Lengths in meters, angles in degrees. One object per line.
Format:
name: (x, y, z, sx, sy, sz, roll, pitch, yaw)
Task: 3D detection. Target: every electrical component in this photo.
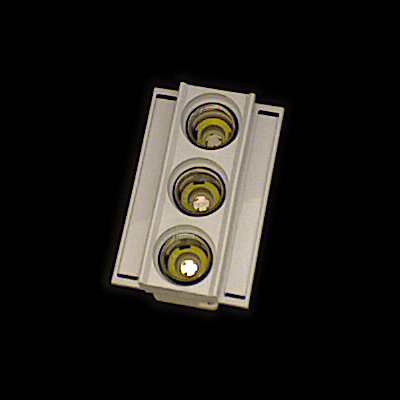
electrical component: (0.000, 0.000, 0.637, 0.078, 0.122, 0.063, 10, -16, 5)
